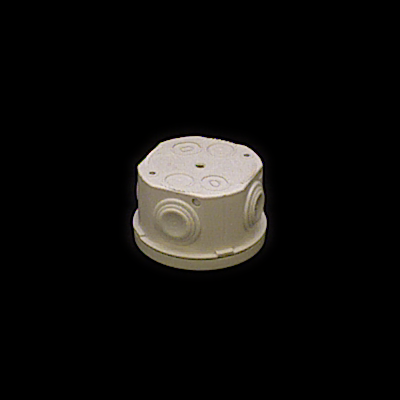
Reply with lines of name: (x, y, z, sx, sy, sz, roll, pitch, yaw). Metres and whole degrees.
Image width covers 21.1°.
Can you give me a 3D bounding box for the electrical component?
electrical component: (0.000, 0.000, 0.636, 0.080, 0.051, 0.079, 0, 32, 0)
